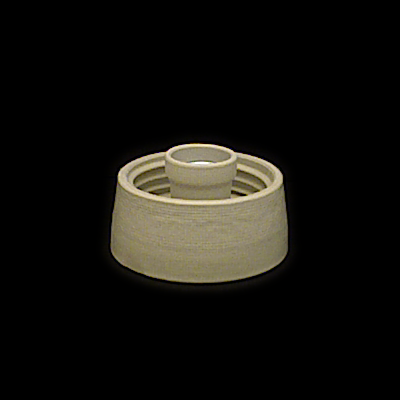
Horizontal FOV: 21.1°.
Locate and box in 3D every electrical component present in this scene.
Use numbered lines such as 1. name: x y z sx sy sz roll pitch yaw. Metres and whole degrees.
1. electrical component: 0.000 0.000 0.644 0.108 0.061 0.106 1 21 0
